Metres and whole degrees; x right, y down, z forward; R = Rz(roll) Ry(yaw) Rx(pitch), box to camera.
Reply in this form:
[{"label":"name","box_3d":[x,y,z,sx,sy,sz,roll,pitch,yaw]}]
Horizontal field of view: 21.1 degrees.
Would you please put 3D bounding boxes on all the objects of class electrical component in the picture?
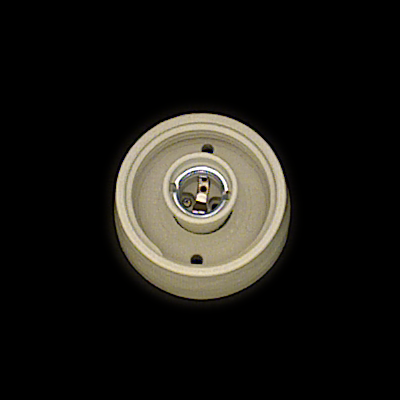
[{"label":"electrical component","box_3d":[0.000,0.000,0.633,0.108,0.108,0.060,0,-16,0]}]
